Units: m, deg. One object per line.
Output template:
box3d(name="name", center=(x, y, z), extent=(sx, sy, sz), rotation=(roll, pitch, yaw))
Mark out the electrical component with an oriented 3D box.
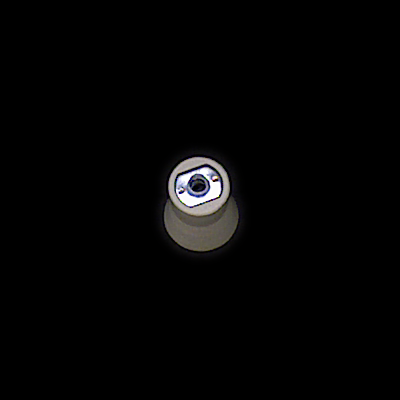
box3d(name="electrical component", center=(0.000, 0.000, 0.625), extent=(0.044, 0.044, 0.065), rotation=(0, -18, 1))
